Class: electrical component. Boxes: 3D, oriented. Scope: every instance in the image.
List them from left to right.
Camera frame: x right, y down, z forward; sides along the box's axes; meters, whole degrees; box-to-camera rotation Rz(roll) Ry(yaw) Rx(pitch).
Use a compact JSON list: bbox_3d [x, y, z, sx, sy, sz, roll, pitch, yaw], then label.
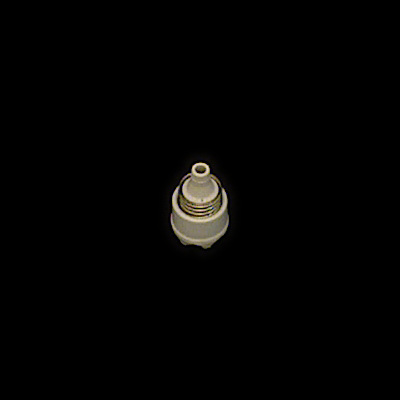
[{"bbox_3d":[0.000,0.000,0.641,0.035,0.035,0.062,0,-36,-1],"label":"electrical component"}]
